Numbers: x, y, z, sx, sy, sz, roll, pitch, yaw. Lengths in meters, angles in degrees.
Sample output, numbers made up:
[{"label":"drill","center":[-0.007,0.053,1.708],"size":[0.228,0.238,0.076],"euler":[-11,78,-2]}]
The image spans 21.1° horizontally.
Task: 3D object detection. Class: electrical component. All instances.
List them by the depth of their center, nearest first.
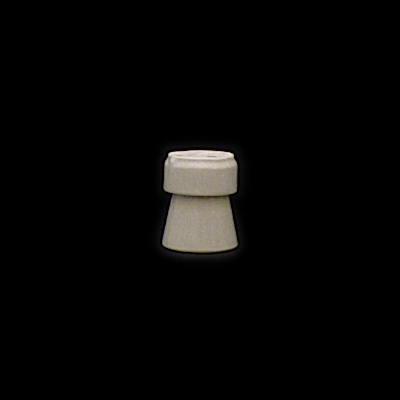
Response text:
[{"label":"electrical component","center":[0.000,0.000,0.645],"size":[0.045,0.055,0.044],"euler":[1,11,0]}]
